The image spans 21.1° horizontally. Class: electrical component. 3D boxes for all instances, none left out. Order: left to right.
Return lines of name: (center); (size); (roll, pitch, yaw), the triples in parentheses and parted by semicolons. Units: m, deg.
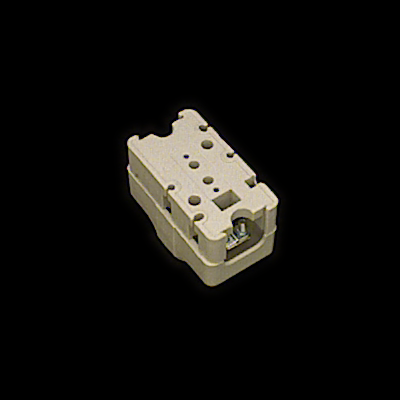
electrical component: (0.000, 0.000, 0.637); (0.050, 0.089, 0.056); (-29, -31, -21)
